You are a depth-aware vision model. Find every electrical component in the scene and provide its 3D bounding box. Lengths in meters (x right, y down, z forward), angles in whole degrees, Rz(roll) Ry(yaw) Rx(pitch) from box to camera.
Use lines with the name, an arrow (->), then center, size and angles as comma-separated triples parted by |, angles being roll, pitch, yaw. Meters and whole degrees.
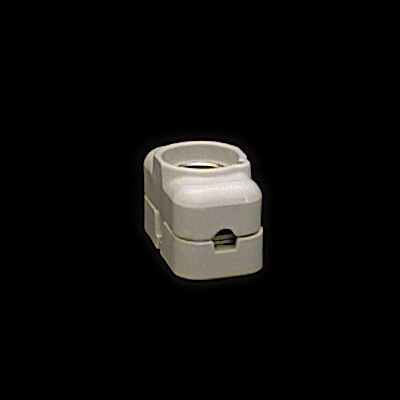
electrical component -> 0.000, 0.000, 0.646 | 0.054, 0.060, 0.093 | -6, 23, -17
